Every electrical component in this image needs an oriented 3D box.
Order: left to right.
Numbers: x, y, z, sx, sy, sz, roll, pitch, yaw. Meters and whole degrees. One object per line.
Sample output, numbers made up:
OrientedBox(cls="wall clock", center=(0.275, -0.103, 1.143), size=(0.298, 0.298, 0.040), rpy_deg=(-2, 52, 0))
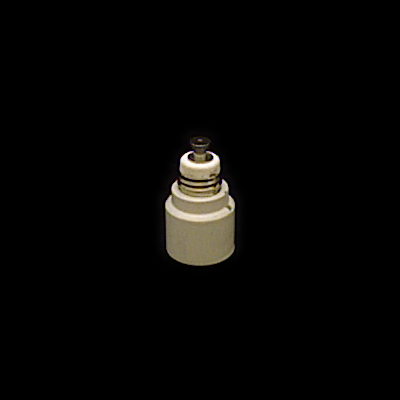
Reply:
OrientedBox(cls="electrical component", center=(0.000, 0.000, 0.629), size=(0.040, 0.079, 0.039), rpy_deg=(0, 31, 0))
